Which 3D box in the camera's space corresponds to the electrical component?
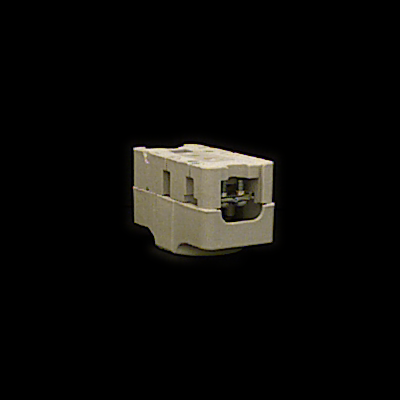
[{"bbox_3d":[0.000,0.000,0.650,0.050,0.056,0.088,-7,13,-32],"label":"electrical component"}]
